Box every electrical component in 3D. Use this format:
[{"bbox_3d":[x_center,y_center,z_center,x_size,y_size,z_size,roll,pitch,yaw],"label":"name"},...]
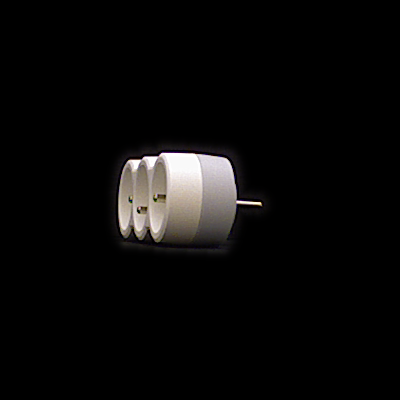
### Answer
[{"bbox_3d":[0.000,0.000,0.653,0.074,0.052,0.138,3,-1,-16],"label":"electrical component"}]
